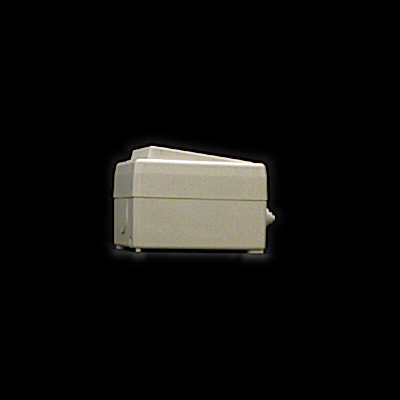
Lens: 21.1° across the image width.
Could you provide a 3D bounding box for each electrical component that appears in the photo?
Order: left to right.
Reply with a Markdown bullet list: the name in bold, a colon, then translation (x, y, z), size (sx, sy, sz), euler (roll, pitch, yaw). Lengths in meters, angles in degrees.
- **electrical component**: translation (0.000, 0.000, 0.650), size (0.096, 0.061, 0.061), euler (1, 0, -16)
